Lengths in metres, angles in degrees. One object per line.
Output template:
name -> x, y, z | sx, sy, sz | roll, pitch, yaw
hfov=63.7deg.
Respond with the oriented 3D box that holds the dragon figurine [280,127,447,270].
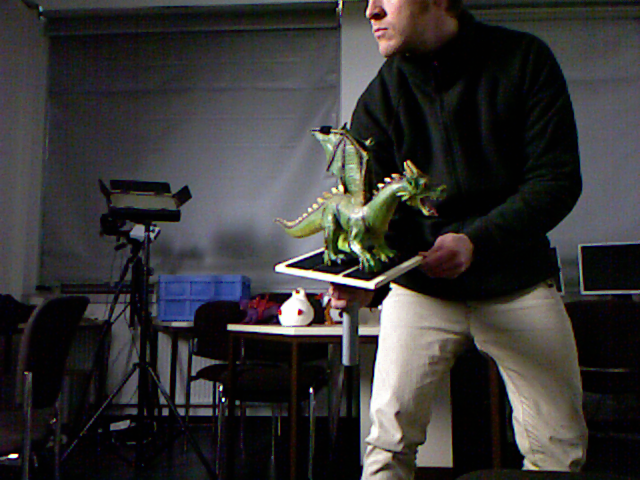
dragon figurine -> 0.041, -0.084, 0.930 | 0.412, 0.240, 0.123 | 13, 25, 43
